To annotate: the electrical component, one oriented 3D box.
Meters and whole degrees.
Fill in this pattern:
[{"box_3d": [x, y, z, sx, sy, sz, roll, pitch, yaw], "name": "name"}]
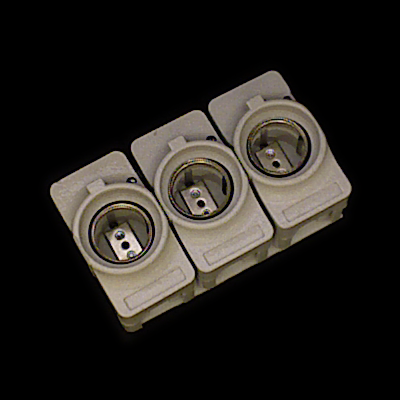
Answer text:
[{"box_3d": [0.000, 0.000, 0.632, 0.150, 0.089, 0.062, -28, -16, -8], "name": "electrical component"}]
